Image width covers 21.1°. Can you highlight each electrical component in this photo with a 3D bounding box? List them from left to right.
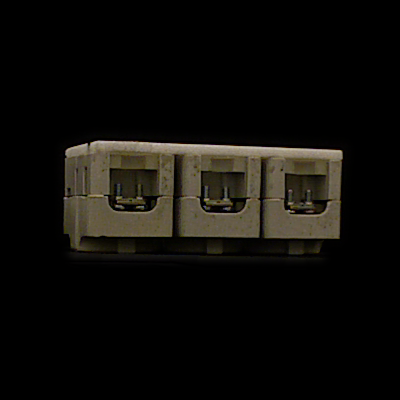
[{"bbox_3d":[0.000,0.000,0.653,0.150,0.062,0.089,1,-1,-18],"label":"electrical component"}]
